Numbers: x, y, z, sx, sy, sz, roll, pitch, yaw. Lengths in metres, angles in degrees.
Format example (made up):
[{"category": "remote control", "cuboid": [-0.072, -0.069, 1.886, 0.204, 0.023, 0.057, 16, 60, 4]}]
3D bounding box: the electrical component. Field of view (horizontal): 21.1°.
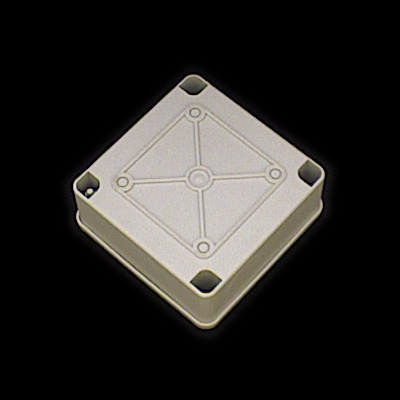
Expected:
[{"category": "electrical component", "cuboid": [0.000, 0.000, 0.627, 0.108, 0.109, 0.056, 38, -21, 18]}]
